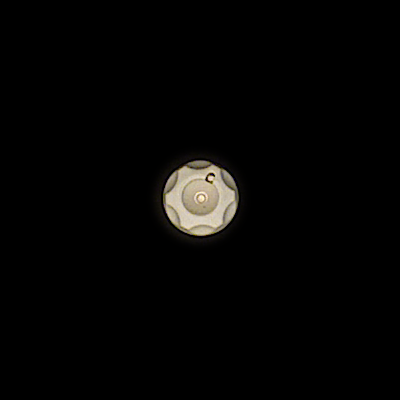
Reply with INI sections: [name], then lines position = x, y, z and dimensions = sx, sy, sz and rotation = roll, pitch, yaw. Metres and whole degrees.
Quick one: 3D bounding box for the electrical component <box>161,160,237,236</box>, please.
[electrical component]
position = 0.000, 0.000, 0.635
dimensions = 0.043, 0.043, 0.062
rotation = 0, -4, 1
